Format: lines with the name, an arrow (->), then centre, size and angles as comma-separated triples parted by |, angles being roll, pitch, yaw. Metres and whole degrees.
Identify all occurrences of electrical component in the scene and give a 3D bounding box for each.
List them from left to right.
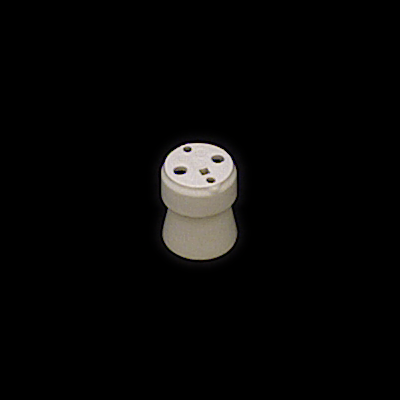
electrical component -> 0.000, 0.000, 0.632 | 0.045, 0.055, 0.044 | 0, 42, 0
